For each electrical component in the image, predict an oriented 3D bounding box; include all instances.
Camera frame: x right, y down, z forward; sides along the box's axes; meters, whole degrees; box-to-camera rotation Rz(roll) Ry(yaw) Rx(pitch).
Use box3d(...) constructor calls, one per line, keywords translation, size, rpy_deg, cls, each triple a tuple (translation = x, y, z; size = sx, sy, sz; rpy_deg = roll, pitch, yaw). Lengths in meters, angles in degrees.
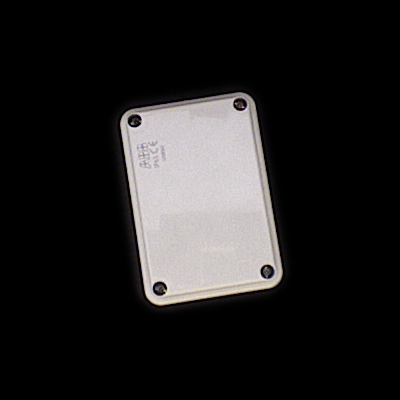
box3d(translation=(0.000, 0.000, 0.628), size=(0.078, 0.113, 0.057), rpy_deg=(-9, -6, -1), cls="electrical component")
